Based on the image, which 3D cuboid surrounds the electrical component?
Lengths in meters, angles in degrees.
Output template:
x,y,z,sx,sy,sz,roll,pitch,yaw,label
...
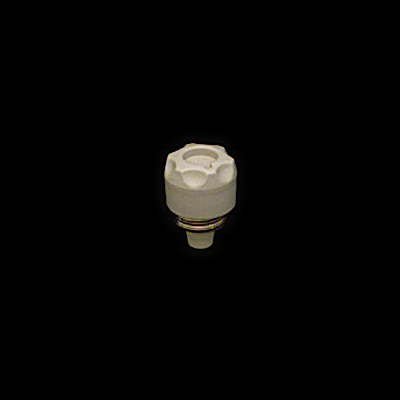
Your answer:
x,y,z,sx,sy,sz,roll,pitch,yaw,label
0.000,0.000,0.642,0.043,0.063,0.043,0,32,0,electrical component
